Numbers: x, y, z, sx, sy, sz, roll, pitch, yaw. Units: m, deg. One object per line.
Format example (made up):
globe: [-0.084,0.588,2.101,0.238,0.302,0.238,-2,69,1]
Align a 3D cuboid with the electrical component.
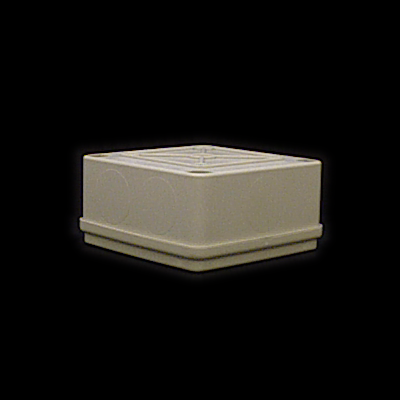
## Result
electrical component: [0.000,0.000,0.647,0.109,0.056,0.107,-8,13,-43]
